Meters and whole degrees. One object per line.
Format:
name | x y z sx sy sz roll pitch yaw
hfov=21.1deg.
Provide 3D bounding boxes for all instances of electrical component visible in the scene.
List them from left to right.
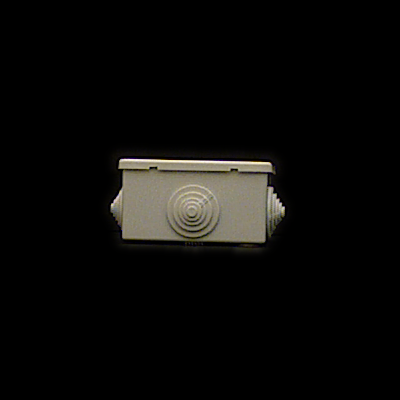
electrical component | 0.000 0.000 0.656 0.099 0.048 0.100 1 1 5
